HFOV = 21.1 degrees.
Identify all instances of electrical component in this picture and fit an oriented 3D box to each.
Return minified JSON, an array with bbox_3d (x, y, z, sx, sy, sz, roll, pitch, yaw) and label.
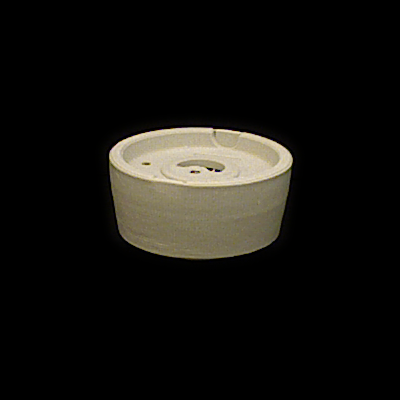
[{"bbox_3d":[0.000,0.000,0.642,0.108,0.061,0.106,1,21,0],"label":"electrical component"}]
